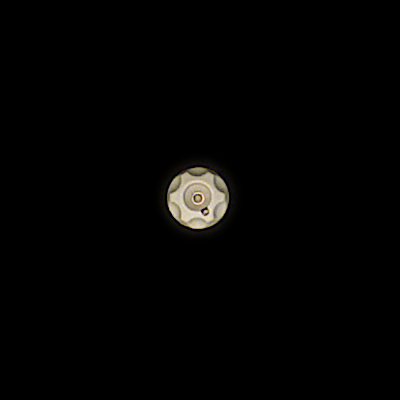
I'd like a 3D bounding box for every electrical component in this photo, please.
[{"bbox_3d":[0.000,0.000,0.634,0.035,0.035,0.061,0,-5,1],"label":"electrical component"}]
